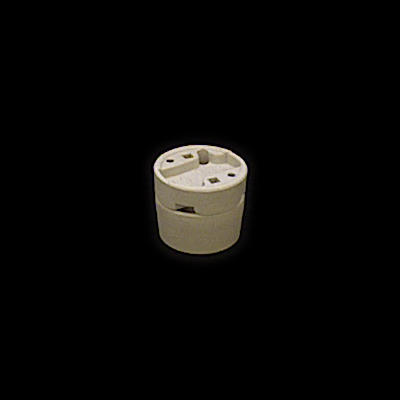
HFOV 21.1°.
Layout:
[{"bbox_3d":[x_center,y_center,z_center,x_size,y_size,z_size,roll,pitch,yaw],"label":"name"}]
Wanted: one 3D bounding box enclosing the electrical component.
[{"bbox_3d":[0.000,0.000,0.640,0.055,0.047,0.055,1,32,0],"label":"electrical component"}]
